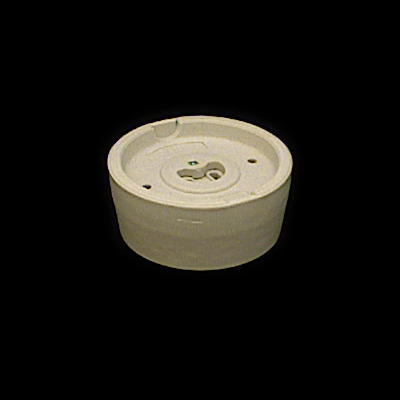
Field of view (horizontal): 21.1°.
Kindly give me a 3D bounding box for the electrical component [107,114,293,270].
[{"bbox_3d":[0.000,0.000,0.643,0.108,0.061,0.106,1,32,0],"label":"electrical component"}]
